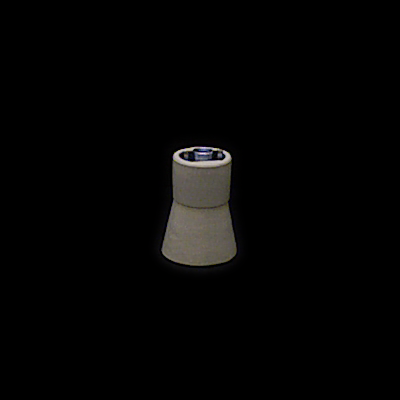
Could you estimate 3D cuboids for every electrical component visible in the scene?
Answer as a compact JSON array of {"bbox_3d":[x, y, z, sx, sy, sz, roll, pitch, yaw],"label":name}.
[{"bbox_3d":[0.000,0.000,0.636,0.044,0.066,0.044,1,22,0],"label":"electrical component"}]
